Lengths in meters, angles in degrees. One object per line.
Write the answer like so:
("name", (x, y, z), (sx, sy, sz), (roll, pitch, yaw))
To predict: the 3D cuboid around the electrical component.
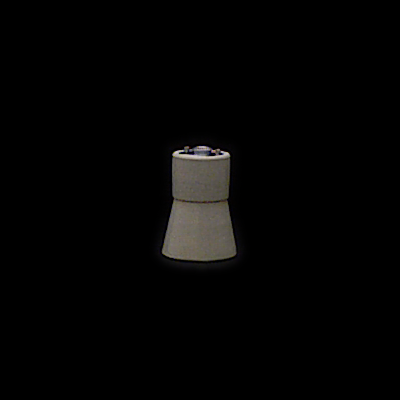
("electrical component", (0.000, 0.000, 0.642), (0.044, 0.066, 0.044), (1, 12, 0))
